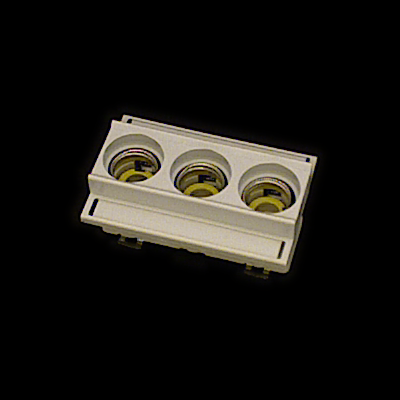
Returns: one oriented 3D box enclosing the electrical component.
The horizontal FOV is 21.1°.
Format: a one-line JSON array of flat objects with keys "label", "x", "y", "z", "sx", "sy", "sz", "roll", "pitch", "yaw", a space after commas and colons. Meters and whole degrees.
[{"label": "electrical component", "x": 0.000, "y": 0.000, "z": 0.638, "sx": 0.121, "sy": 0.078, "sz": 0.063, "roll": 13, "pitch": -34, "yaw": 10}]
